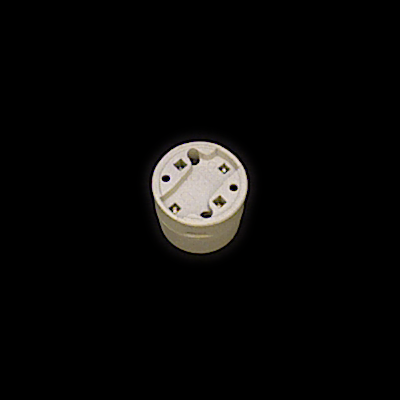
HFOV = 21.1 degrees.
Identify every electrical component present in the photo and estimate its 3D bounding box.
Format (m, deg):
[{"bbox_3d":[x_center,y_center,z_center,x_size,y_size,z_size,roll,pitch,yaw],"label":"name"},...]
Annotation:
[{"bbox_3d":[0.000,0.000,0.634,0.055,0.056,0.047,0,-27,0],"label":"electrical component"}]
